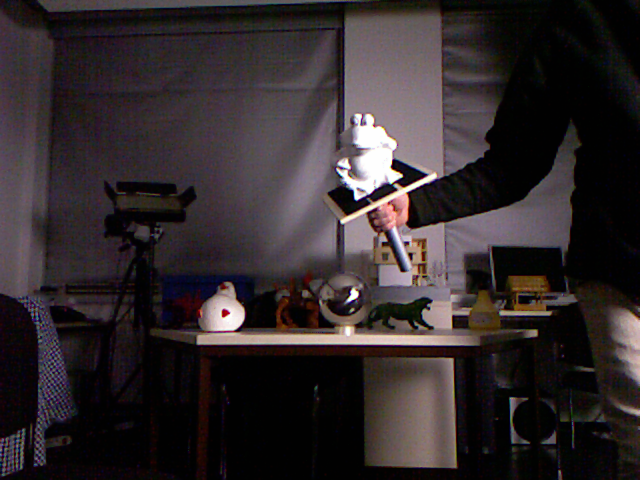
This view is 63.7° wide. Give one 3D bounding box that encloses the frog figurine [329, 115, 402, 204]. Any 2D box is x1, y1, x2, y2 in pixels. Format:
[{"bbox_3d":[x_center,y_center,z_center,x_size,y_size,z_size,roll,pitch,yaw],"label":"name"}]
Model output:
[{"bbox_3d":[0.080,-0.175,1.032,0.137,0.157,0.125,-19,24,14],"label":"frog figurine"}]
